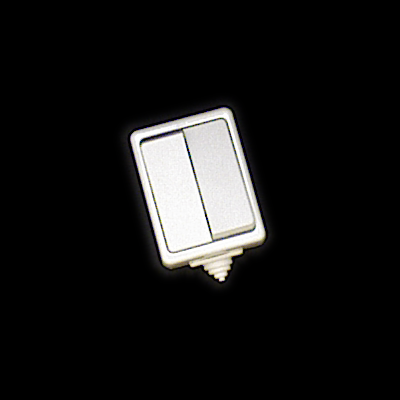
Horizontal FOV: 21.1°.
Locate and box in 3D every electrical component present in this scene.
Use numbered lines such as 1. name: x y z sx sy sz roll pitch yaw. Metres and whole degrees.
1. electrical component: 0.000 0.000 0.626 0.062 0.096 0.061 -15 -7 -1
